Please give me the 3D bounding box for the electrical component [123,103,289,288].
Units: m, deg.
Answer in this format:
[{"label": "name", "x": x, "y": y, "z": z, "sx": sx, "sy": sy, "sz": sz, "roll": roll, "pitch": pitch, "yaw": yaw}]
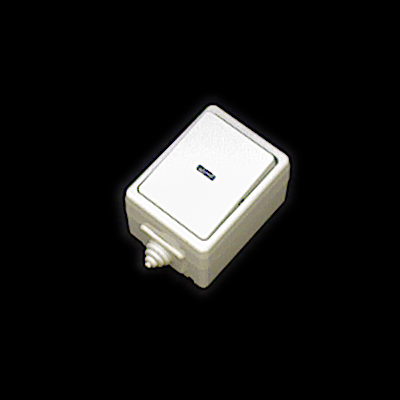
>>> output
[{"label": "electrical component", "x": 0.000, "y": 0.000, "z": 0.625, "sx": 0.061, "sy": 0.096, "sz": 0.060, "roll": 36, "pitch": -22, "yaw": 17}]
